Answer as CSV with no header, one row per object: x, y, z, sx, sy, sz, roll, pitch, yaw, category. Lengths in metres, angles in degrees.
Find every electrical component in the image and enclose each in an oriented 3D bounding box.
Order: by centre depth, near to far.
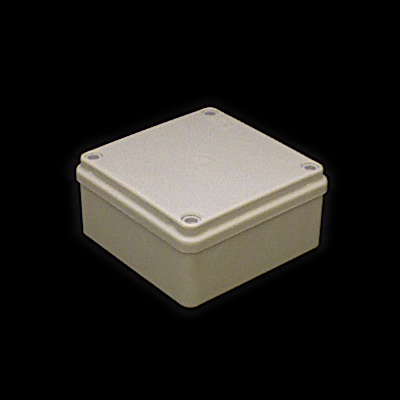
0.000,0.000,0.634,0.108,0.057,0.107,-24,39,-33,electrical component
